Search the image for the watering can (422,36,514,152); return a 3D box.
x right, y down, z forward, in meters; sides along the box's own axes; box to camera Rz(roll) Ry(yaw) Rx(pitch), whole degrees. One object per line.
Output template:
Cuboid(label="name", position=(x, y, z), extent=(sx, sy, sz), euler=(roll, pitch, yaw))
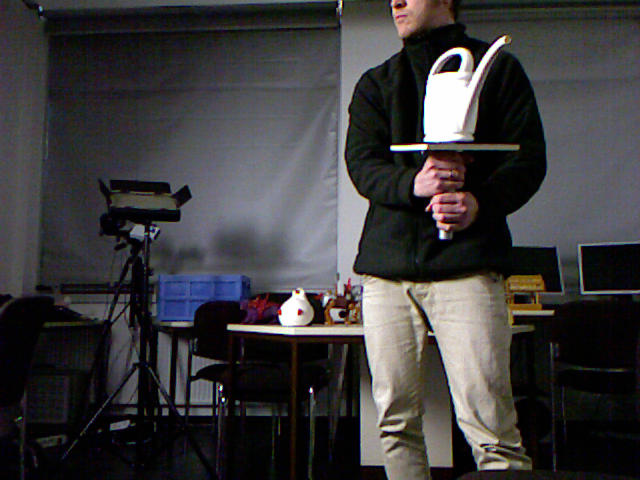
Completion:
Cuboid(label="watering can", position=(0.294, -0.298, 1.084), extent=(0.104, 0.223, 0.350), euler=(-3, 9, -12))
